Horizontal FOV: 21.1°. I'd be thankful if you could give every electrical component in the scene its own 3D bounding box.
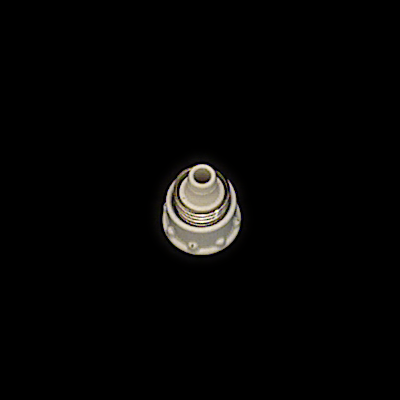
[{"bbox_3d":[0.000,0.000,0.634,0.048,0.048,0.062,0,-27,-1],"label":"electrical component"}]
